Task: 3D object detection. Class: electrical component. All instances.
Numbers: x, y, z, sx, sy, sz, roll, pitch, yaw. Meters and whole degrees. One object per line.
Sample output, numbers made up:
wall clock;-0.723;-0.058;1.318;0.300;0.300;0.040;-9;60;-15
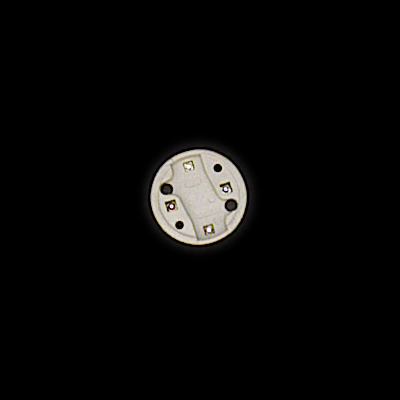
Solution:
electrical component;0.000;0.000;0.636;0.055;0.055;0.047;0;-7;0
